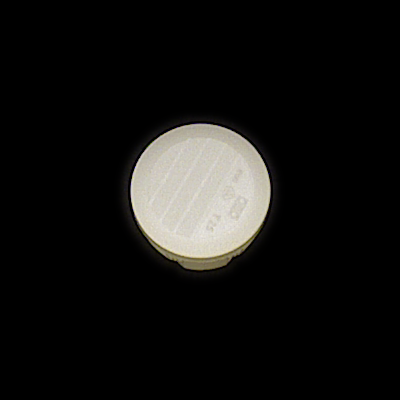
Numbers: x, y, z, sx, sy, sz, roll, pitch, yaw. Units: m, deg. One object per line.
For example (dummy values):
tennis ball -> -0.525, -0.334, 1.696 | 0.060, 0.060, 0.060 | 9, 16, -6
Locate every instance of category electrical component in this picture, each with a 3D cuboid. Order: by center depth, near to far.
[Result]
electrical component -> 0.000, 0.000, 0.629 | 0.080, 0.080, 0.050 | 0, -17, 0
